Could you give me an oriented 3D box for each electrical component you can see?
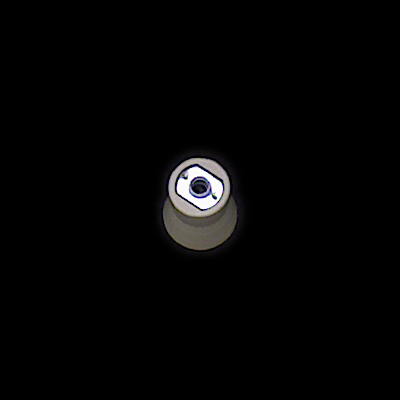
[{"bbox_3d":[0.000,0.000,0.624,0.044,0.044,0.065,0,-16,0],"label":"electrical component"}]
